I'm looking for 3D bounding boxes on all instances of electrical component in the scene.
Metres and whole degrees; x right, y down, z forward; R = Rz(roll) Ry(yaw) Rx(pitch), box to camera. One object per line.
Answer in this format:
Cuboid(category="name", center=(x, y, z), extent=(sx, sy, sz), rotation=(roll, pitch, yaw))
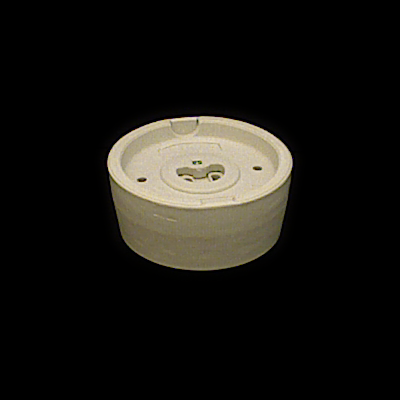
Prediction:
Cuboid(category="electrical component", center=(0.000, 0.000, 0.643), extent=(0.108, 0.061, 0.106), rotation=(1, 32, 0))
